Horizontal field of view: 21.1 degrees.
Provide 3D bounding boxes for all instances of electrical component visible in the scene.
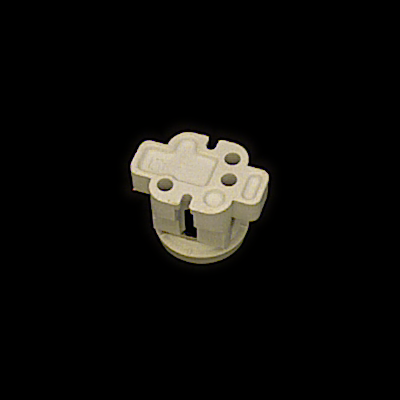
[{"bbox_3d":[0.000,0.000,0.636,0.078,0.058,0.057,14,-35,11],"label":"electrical component"}]
